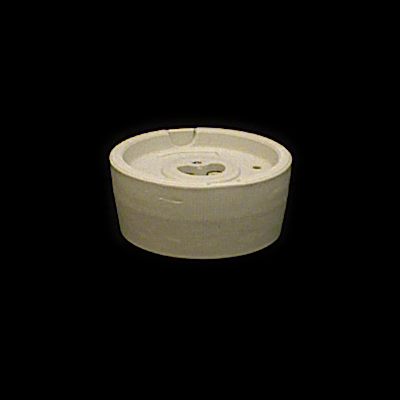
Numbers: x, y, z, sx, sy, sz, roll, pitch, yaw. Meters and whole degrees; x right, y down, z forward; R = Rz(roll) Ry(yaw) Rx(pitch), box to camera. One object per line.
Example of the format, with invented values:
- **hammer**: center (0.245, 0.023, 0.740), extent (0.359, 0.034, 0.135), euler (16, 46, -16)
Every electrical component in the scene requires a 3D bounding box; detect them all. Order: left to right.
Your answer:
- **electrical component**: center (0.000, 0.000, 0.648), extent (0.108, 0.061, 0.106), euler (1, 22, 0)
